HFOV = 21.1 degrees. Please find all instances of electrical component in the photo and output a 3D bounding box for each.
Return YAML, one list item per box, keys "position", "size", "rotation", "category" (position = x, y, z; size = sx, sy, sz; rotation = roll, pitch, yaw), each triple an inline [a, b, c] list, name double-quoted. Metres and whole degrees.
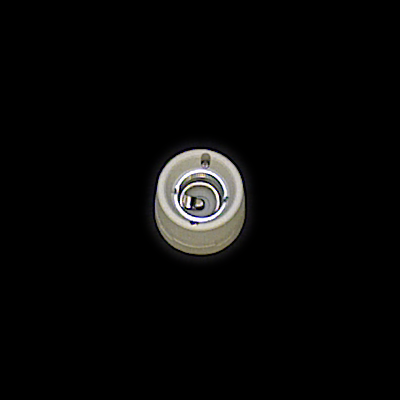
- position: [0.000, 0.000, 0.633]
  size: [0.055, 0.056, 0.047]
  rotation: [0, -18, -1]
  category: "electrical component"
